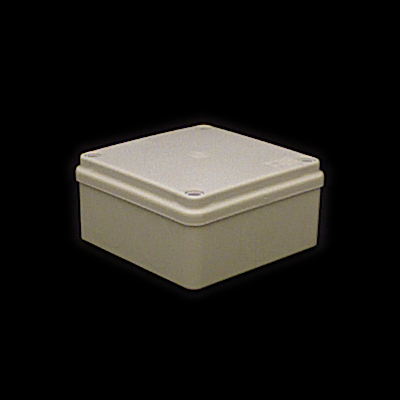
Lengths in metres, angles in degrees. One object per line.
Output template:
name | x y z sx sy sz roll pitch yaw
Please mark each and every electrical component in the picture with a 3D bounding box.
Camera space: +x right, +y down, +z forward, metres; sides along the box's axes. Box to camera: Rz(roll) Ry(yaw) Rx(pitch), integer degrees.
electrical component | 0.000 0.000 0.640 0.108 0.057 0.107 -17 27 -40
